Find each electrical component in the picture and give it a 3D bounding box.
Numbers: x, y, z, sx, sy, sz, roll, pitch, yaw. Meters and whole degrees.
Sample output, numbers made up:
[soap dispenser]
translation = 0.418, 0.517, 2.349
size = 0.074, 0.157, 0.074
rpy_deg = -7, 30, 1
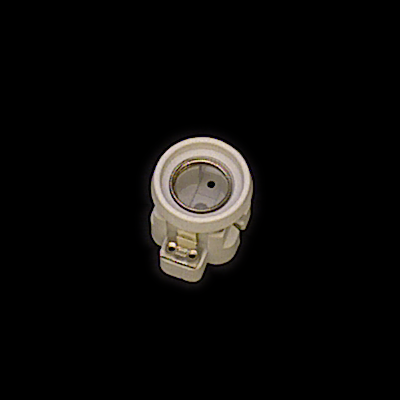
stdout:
[electrical component]
translation = 0.000, 0.000, 0.627
size = 0.058, 0.079, 0.056
rpy_deg = 18, -25, 9
